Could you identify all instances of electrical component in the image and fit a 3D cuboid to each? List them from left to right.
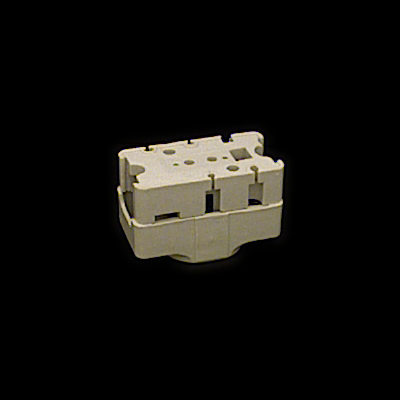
[{"bbox_3d":[0.000,0.000,0.643,0.090,0.056,0.049,-8,33,-16],"label":"electrical component"}]
